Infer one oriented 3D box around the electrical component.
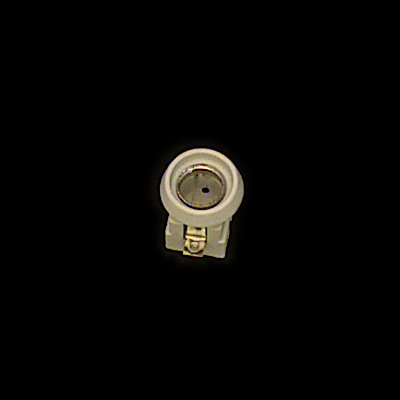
[{"bbox_3d":[0.000,0.000,0.636,0.048,0.066,0.055,7,-26,6],"label":"electrical component"}]
